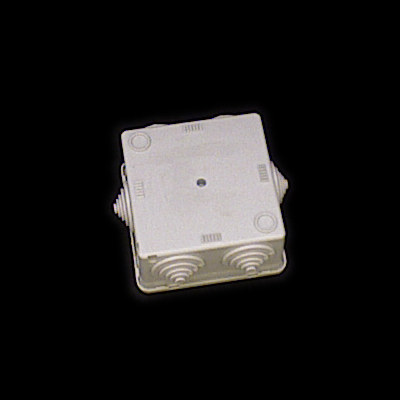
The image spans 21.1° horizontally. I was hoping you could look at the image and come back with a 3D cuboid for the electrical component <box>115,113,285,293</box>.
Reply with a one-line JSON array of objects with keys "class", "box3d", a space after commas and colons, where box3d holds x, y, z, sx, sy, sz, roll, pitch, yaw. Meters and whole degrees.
[{"class": "electrical component", "box3d": [0.000, 0.000, 0.631, 0.100, 0.100, 0.048, -8, -27, -4]}]
